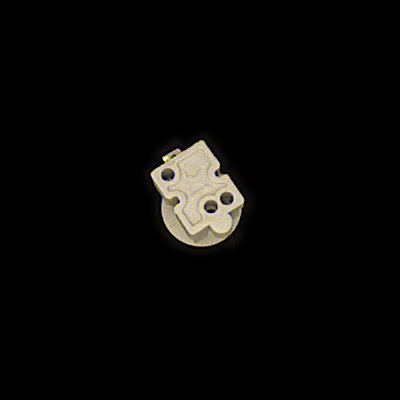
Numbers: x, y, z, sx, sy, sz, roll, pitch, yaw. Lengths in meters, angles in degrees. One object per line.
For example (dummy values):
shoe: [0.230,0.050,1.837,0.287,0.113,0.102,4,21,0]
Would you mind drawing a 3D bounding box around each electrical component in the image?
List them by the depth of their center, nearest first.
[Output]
electrical component: [0.000,0.000,0.637,0.048,0.066,0.055,-32,-14,-7]
